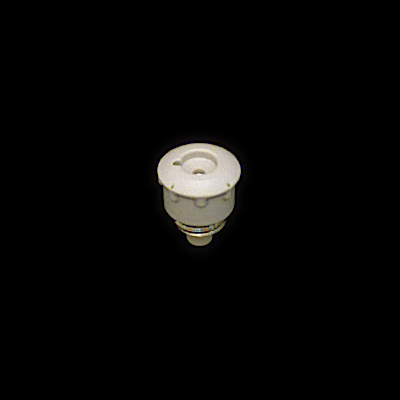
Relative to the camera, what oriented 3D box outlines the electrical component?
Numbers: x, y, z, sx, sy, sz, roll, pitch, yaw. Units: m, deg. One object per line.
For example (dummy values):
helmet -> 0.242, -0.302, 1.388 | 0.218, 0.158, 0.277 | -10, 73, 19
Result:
electrical component -> 0.000, 0.000, 0.635 | 0.048, 0.062, 0.048 | 1, 42, 0
